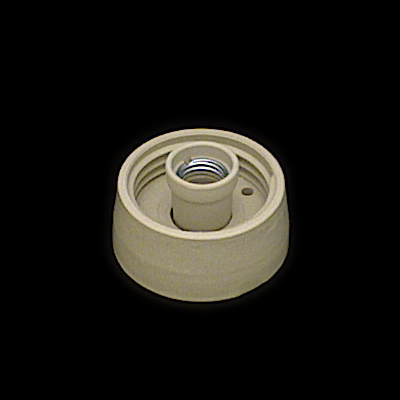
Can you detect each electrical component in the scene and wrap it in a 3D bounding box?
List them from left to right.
[{"bbox_3d":[0.000,0.000,0.637,0.108,0.061,0.107,1,42,0],"label":"electrical component"}]
